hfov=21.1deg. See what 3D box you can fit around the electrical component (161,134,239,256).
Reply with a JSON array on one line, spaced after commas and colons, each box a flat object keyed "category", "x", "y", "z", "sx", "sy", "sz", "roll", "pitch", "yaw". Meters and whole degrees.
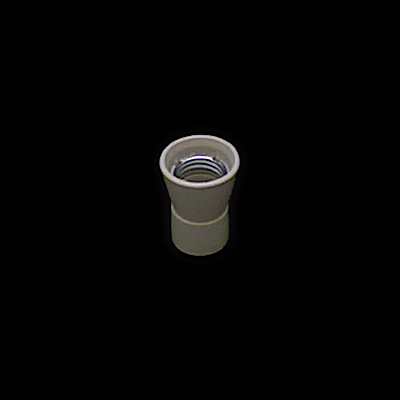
[{"category": "electrical component", "x": 0.000, "y": 0.000, "z": 0.628, "sx": 0.044, "sy": 0.066, "sz": 0.044, "roll": 0, "pitch": 43, "yaw": 0}]
